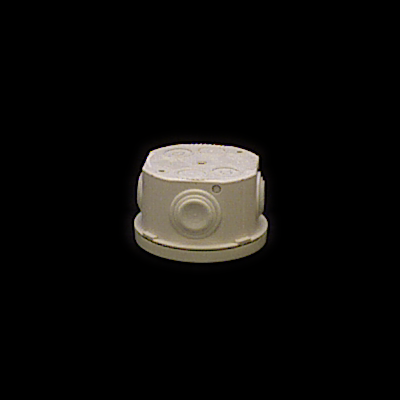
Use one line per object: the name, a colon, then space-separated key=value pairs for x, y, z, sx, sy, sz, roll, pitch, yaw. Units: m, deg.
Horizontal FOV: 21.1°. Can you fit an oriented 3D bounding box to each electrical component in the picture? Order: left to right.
electrical component: x=0.000 y=0.000 z=0.640 sx=0.080 sy=0.051 sz=0.079 roll=1 pitch=21 yaw=0
